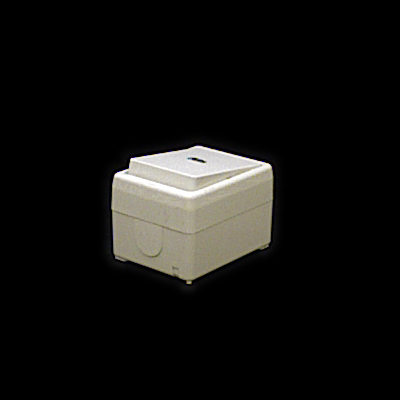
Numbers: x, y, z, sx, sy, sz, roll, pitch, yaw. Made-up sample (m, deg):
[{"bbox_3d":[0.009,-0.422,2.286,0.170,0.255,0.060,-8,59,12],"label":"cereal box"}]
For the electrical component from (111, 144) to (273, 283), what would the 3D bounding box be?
[{"bbox_3d":[0.000,0.000,0.640,0.061,0.061,0.095,17,26,36],"label":"electrical component"}]
